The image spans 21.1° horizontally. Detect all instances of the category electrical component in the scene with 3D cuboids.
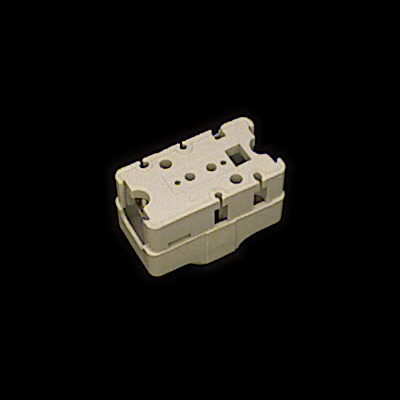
[{"bbox_3d":[0.000,0.000,0.637,0.090,0.050,0.056,-24,-34,-18],"label":"electrical component"}]
